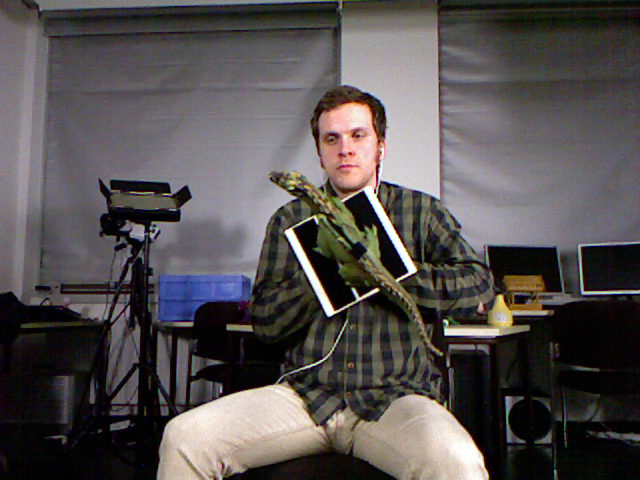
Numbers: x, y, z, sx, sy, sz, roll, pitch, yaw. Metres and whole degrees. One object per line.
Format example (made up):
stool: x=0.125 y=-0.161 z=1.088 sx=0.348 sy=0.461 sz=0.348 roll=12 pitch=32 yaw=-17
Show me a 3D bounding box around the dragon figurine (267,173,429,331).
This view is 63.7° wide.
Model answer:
dragon figurine: x=0.065 y=0.021 z=0.933 sx=0.414 sy=0.123 sz=0.243 roll=44 pitch=2 yaw=7
